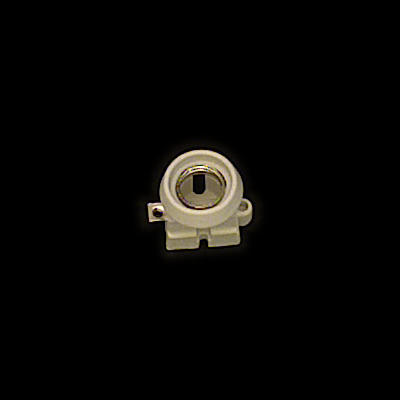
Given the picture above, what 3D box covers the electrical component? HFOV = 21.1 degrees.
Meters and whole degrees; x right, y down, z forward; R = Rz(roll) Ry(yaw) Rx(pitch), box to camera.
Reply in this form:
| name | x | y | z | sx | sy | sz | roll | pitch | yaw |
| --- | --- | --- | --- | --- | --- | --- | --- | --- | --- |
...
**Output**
| name | x | y | z | sx | sy | sz | roll | pitch | yaw |
| --- | --- | --- | --- | --- | --- | --- | --- | --- | --- |
| electrical component | 0.000 | 0.000 | 0.636 | 0.066 | 0.048 | 0.055 | -6 | -28 | -3 |
